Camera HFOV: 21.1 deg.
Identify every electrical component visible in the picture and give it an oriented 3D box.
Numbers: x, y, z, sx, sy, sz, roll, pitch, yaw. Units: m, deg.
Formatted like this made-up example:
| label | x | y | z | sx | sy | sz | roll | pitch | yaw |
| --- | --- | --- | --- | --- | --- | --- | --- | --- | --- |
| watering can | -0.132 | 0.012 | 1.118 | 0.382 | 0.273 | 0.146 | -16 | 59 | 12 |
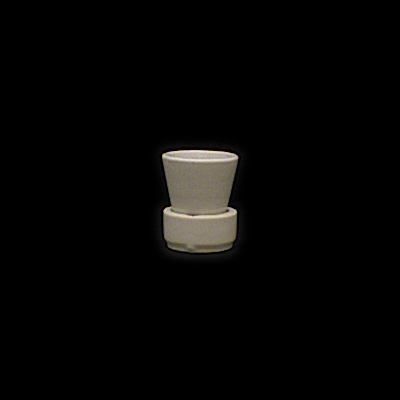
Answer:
| label | x | y | z | sx | sy | sz | roll | pitch | yaw |
| --- | --- | --- | --- | --- | --- | --- | --- | --- | --- |
| electrical component | 0.000 | 0.000 | 0.643 | 0.045 | 0.055 | 0.044 | 1 | 11 | 0 |
